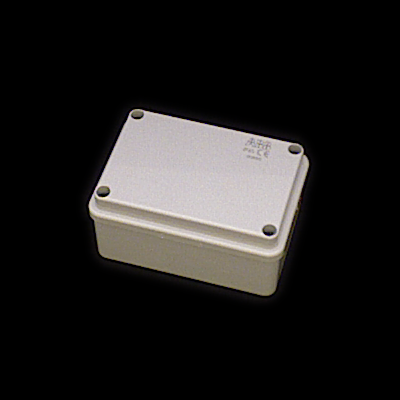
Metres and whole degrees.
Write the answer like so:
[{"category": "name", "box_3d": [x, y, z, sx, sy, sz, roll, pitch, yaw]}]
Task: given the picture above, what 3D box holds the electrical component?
[{"category": "electrical component", "box_3d": [0.000, 0.000, 0.630, 0.113, 0.078, 0.057, 13, -37, 9]}]
